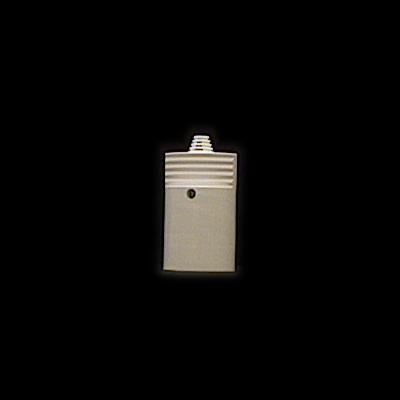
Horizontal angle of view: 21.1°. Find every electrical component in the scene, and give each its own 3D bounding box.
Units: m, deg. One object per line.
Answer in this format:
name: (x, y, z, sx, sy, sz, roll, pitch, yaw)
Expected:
electrical component: (0.000, 0.000, 0.650, 0.043, 0.081, 0.043, 1, 1, 0)
